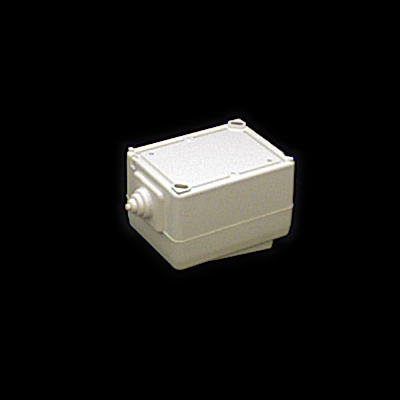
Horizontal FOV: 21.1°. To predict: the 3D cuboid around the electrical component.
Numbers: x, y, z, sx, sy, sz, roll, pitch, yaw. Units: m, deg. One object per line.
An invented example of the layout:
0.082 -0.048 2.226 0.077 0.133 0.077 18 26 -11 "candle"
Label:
0.000 0.000 0.629 0.096 0.061 0.061 -17 36 -27 "electrical component"
